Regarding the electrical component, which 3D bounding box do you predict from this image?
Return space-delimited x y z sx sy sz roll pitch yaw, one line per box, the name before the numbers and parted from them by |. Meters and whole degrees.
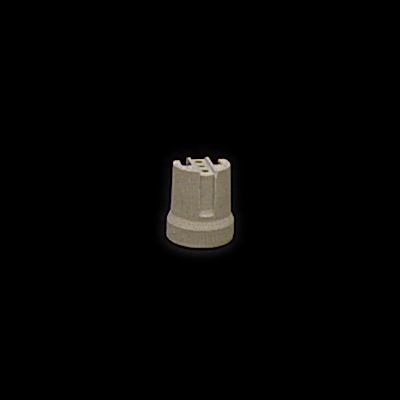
electrical component | 0.000 0.000 0.643 0.040 0.046 0.040 1 22 0
